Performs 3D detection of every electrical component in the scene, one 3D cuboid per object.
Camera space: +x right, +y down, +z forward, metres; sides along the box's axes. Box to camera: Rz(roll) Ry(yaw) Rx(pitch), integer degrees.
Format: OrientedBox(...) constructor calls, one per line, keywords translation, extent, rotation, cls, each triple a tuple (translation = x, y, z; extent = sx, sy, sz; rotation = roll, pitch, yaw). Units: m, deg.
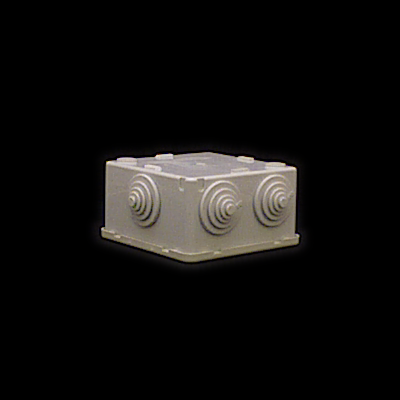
OrientedBox(translation=(0.000, 0.000, 0.644), extent=(0.100, 0.049, 0.099), rotation=(-7, 13, -39), cls="electrical component")
